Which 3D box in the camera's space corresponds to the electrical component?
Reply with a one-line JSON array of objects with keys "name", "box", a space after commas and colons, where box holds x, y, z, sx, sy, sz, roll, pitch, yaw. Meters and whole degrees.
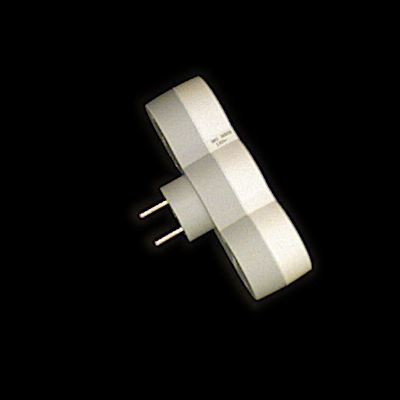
[{"name": "electrical component", "box": [0.000, 0.000, 0.638, 0.074, 0.138, 0.052, -29, -14, -6]}]
